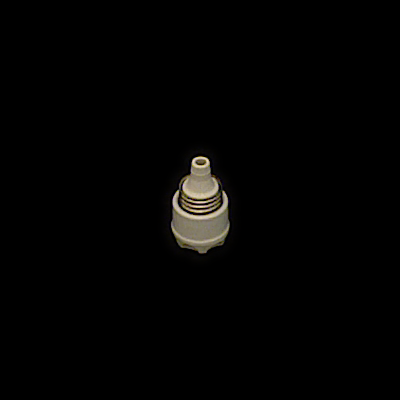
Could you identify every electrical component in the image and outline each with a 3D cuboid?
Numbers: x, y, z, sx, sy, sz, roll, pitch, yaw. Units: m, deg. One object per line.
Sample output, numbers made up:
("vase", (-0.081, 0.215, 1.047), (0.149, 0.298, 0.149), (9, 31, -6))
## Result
("electrical component", (0.000, 0.000, 0.642), (0.035, 0.062, 0.035), (1, 41, 0))
